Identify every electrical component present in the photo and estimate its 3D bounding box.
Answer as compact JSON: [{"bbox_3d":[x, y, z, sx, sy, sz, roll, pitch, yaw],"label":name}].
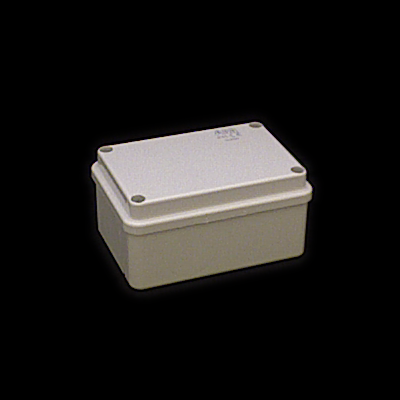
[{"bbox_3d":[0.000,0.000,0.636,0.113,0.058,0.077,-11,33,-19],"label":"electrical component"}]
